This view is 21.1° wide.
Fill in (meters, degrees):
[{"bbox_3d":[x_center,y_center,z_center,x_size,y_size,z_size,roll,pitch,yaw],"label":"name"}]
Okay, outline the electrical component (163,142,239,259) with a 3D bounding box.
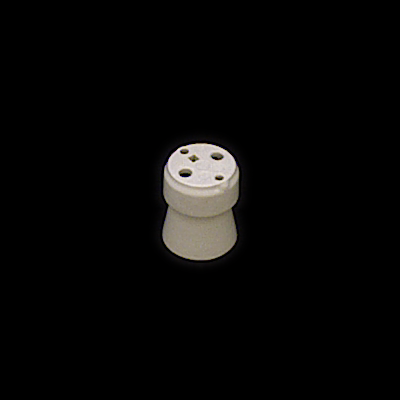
[{"bbox_3d":[0.000,0.000,0.633,0.045,0.056,0.044,1,42,-1],"label":"electrical component"}]
